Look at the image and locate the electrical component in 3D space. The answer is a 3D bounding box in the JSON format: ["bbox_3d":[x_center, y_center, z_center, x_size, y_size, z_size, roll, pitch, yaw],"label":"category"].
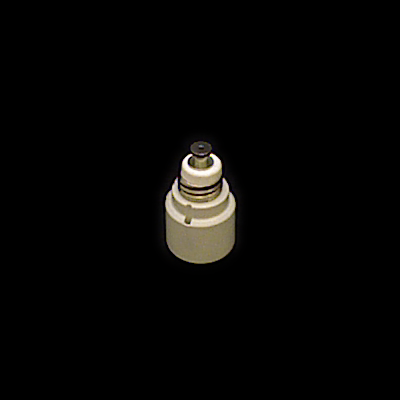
[{"bbox_3d":[0.000,0.000,0.626,0.040,0.079,0.039,0,43,0],"label":"electrical component"}]
